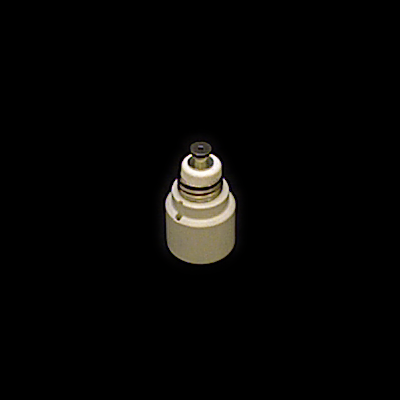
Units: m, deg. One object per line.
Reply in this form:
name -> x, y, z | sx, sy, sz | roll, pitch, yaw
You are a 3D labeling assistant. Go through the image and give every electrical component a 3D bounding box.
electrical component -> 0.000, 0.000, 0.625 | 0.040, 0.079, 0.039 | 0, 43, 0
